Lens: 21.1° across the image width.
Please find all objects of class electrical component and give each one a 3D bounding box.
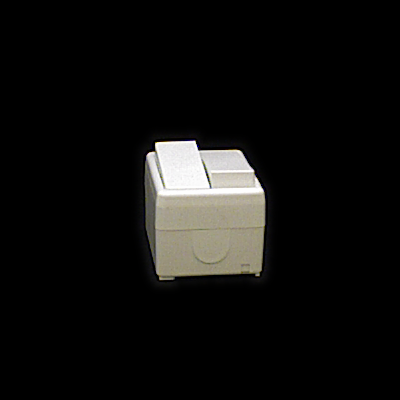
[{"bbox_3d":[0.000,0.000,0.641,0.062,0.061,0.095,-2,21,-7],"label":"electrical component"}]
